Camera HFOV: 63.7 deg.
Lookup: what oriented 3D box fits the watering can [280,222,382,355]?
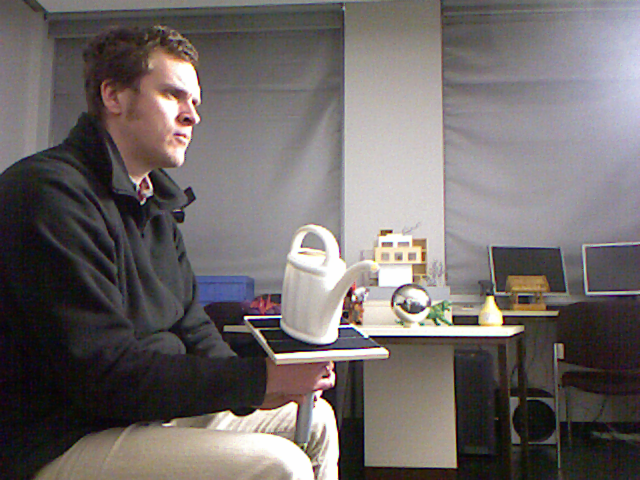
[{"bbox_3d":[0.002,0.091,0.870,0.104,0.223,0.351,-1,11,-22],"label":"watering can"}]
